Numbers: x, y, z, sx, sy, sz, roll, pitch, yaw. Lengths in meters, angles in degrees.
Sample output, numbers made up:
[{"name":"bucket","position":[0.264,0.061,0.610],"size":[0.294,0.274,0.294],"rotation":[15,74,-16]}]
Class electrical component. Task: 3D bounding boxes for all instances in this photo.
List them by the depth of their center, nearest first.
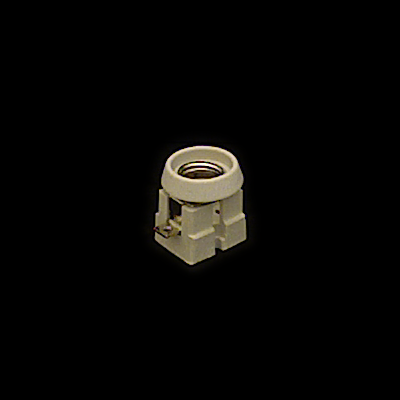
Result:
[{"name":"electrical component","position":[0.000,0.000,0.641],"size":[0.067,0.056,0.047],"rotation":[-25,38,-35]}]
